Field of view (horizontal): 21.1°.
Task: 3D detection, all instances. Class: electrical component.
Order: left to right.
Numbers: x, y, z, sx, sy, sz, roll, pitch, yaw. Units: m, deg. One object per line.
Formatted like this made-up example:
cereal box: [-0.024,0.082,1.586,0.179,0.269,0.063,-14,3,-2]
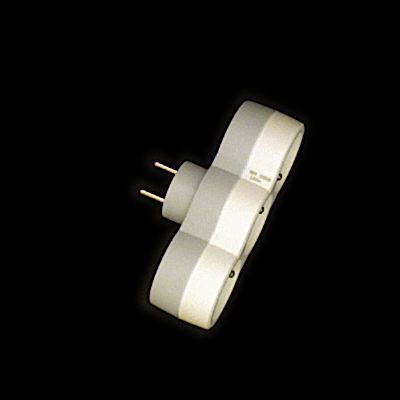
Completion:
electrical component: [0.000,0.000,0.638,0.073,0.139,0.052,24,-15,9]
